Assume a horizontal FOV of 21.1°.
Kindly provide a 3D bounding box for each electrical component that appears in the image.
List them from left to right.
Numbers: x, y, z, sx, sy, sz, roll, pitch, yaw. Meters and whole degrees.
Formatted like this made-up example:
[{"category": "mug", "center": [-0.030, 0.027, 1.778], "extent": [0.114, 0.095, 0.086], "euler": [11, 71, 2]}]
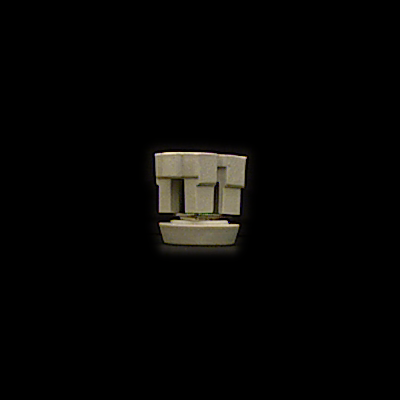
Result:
[{"category": "electrical component", "center": [0.000, 0.000, 0.655], "extent": [0.048, 0.055, 0.067], "euler": [1, 0, 43]}]
